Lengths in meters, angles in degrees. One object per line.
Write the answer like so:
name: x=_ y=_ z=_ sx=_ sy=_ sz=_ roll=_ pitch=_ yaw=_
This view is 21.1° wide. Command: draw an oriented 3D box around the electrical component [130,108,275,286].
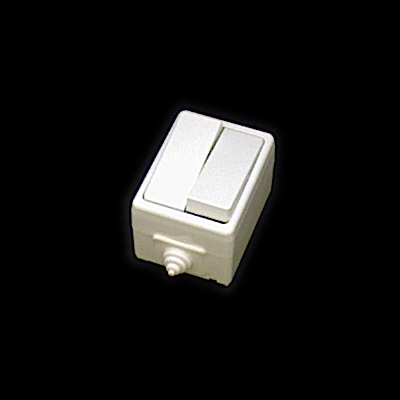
electrical component: x=0.000 y=0.000 z=0.626 sx=0.061 sy=0.096 sz=0.061 roll=17 pitch=-36 yaw=13
